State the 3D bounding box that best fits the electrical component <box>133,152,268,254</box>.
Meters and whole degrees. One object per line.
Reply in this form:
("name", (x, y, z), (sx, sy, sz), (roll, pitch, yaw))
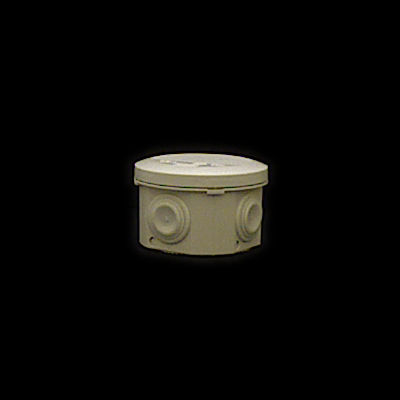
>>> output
("electrical component", (0.000, 0.000, 0.646), (0.080, 0.051, 0.079), (1, 10, 0))
